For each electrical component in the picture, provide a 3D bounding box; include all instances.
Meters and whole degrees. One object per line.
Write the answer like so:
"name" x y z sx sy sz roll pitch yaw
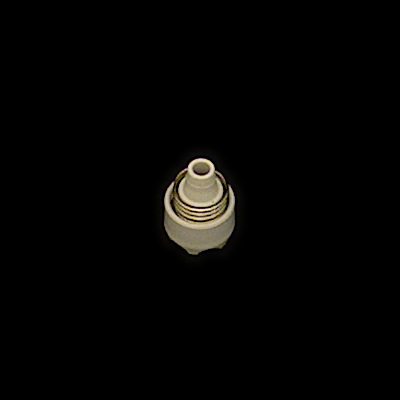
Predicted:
"electrical component" 0.000 0.000 0.635 0.043 0.043 0.062 0 -37 -2
